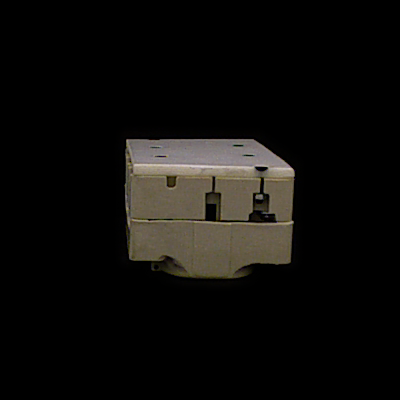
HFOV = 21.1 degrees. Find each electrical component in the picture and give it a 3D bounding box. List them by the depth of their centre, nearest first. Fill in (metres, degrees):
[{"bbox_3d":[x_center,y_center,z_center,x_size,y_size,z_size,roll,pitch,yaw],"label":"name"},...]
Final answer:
[{"bbox_3d":[0.000,0.000,0.653,0.090,0.062,0.148,1,9,-5],"label":"electrical component"}]
